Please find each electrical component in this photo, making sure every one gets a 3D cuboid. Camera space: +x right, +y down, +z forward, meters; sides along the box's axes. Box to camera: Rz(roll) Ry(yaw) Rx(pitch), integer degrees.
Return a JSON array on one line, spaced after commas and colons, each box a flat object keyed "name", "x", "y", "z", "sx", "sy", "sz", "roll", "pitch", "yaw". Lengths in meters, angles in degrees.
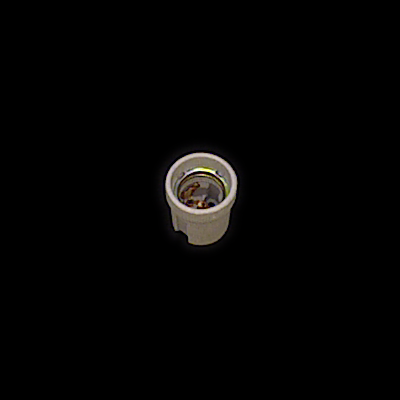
[{"name": "electrical component", "x": 0.000, "y": 0.000, "z": 0.628, "sx": 0.040, "sy": 0.040, "sz": 0.046, "roll": 0, "pitch": -28, "yaw": -1}]
